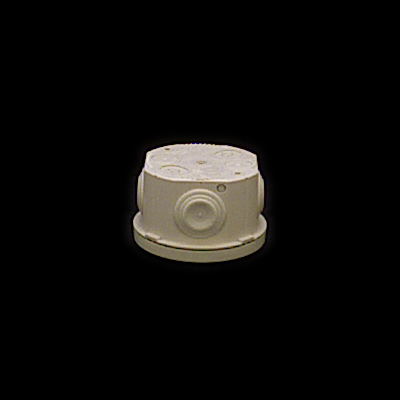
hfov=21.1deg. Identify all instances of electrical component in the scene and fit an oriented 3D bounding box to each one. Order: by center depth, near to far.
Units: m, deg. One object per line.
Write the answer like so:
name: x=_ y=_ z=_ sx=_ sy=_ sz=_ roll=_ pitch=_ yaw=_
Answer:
electrical component: x=0.000 y=0.000 z=0.640 sx=0.080 sy=0.051 sz=0.079 roll=2 pitch=21 yaw=0
